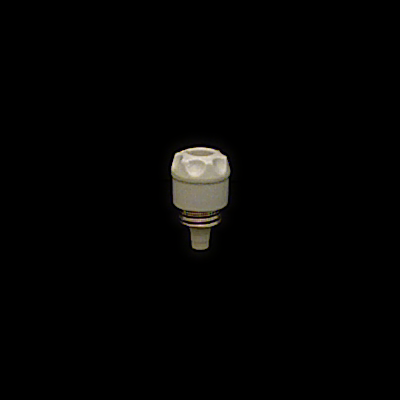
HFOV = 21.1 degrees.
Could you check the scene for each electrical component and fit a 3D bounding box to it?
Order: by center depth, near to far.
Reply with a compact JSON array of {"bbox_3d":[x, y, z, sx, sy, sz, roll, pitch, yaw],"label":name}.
[{"bbox_3d":[0.000,0.000,0.647,0.035,0.062,0.034,1,22,0],"label":"electrical component"}]
